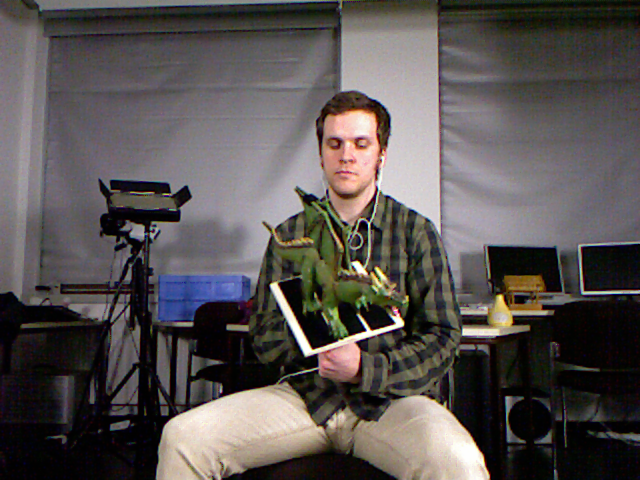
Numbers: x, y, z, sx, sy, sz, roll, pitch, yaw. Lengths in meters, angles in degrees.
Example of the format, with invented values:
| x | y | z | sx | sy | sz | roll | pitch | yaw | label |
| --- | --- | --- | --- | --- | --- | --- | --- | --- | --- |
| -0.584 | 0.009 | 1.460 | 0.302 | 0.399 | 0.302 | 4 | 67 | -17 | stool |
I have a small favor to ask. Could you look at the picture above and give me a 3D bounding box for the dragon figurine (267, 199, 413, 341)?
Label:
| x | y | z | sx | sy | sz | roll | pitch | yaw | label |
| --- | --- | --- | --- | --- | --- | --- | --- | --- | --- |
| 0.003 | 0.023 | 0.945 | 0.124 | 0.237 | 0.417 | -29 | 48 | -28 | dragon figurine |
